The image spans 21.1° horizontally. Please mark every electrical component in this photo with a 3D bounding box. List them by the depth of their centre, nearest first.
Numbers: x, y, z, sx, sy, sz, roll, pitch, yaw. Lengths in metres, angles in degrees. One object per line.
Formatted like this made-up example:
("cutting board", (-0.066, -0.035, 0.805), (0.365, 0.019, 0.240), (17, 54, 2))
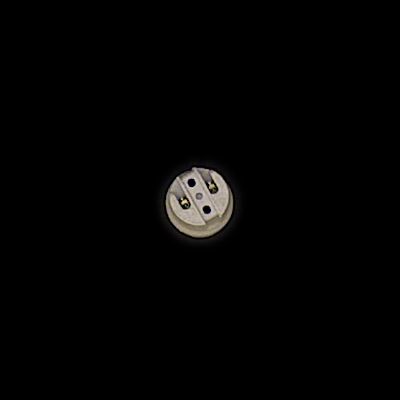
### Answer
("electrical component", (0.000, 0.000, 0.634), (0.040, 0.040, 0.046), (0, -6, 0))
